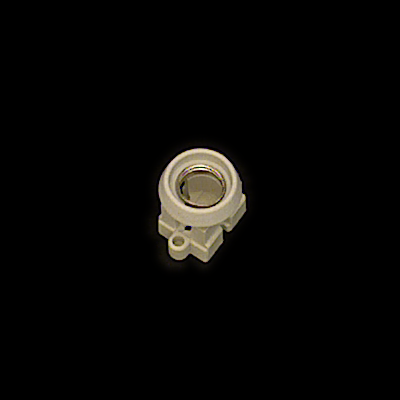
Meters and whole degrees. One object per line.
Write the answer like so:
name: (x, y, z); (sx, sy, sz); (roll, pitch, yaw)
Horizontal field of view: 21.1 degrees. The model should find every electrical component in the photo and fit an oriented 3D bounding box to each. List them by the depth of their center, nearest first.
electrical component: (0.000, 0.000, 0.637); (0.048, 0.067, 0.055); (31, -22, 13)
